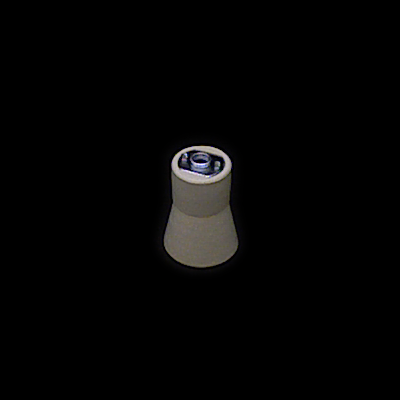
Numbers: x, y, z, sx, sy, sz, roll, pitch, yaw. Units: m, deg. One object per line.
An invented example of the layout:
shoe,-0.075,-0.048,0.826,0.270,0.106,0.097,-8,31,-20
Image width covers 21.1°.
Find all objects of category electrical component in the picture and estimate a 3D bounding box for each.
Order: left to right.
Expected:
electrical component,0.000,0.000,0.630,0.044,0.066,0.044,1,41,0
